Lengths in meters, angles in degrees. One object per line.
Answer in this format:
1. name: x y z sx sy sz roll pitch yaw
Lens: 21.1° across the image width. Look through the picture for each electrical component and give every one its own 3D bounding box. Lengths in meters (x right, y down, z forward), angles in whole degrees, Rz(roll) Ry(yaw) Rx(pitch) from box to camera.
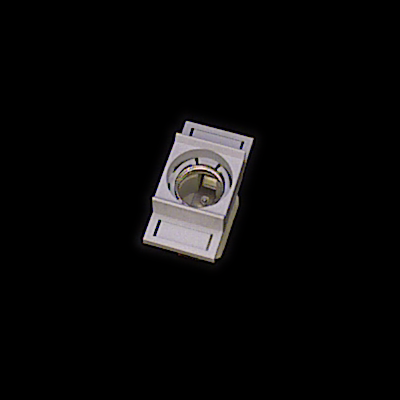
1. electrical component: 0.000 0.000 0.625 0.042 0.081 0.064 15 -26 9
